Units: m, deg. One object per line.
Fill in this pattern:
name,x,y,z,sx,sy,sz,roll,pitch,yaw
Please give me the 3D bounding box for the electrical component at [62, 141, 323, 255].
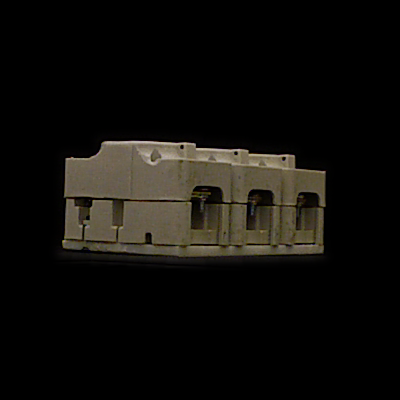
electrical component,0.000,0.000,0.657,0.089,0.062,0.150,2,0,37
